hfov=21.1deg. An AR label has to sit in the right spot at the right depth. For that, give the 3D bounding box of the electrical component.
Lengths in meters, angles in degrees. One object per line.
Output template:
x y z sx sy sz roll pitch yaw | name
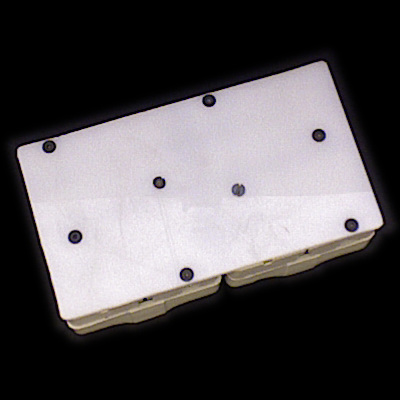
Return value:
0.000 0.000 0.625 0.186 0.106 0.060 -16 -16 -5 | electrical component
